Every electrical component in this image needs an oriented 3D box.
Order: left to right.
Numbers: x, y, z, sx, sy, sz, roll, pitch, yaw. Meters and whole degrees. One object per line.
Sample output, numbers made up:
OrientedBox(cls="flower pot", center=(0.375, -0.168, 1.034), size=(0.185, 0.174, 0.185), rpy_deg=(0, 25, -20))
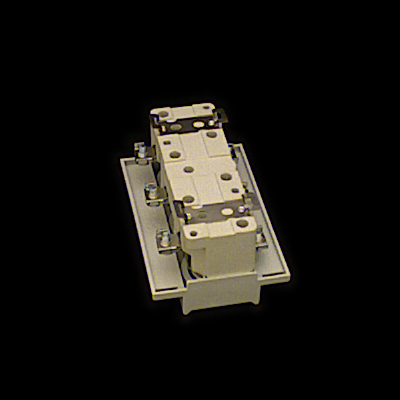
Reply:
OrientedBox(cls="electrical component", center=(0.000, 0.000, 0.639), size=(0.079, 0.063, 0.120), rpy_deg=(-7, 43, -10))
